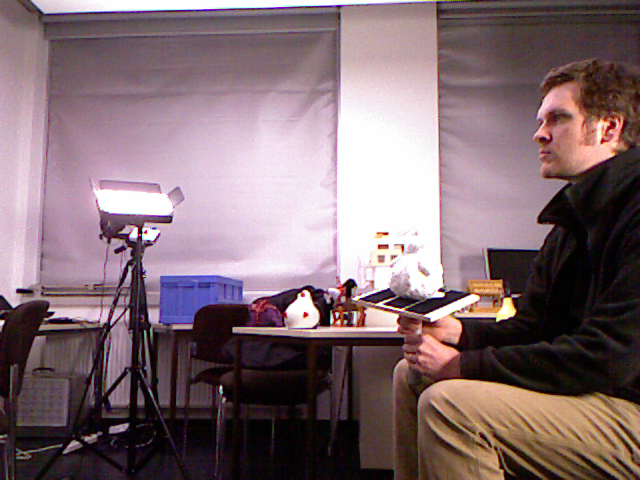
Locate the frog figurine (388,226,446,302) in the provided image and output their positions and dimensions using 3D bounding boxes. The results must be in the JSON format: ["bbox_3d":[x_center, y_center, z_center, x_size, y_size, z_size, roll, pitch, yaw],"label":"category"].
[{"bbox_3d":[0.216,0.053,1.149,0.123,0.158,0.138,-7,15,-23],"label":"frog figurine"}]
